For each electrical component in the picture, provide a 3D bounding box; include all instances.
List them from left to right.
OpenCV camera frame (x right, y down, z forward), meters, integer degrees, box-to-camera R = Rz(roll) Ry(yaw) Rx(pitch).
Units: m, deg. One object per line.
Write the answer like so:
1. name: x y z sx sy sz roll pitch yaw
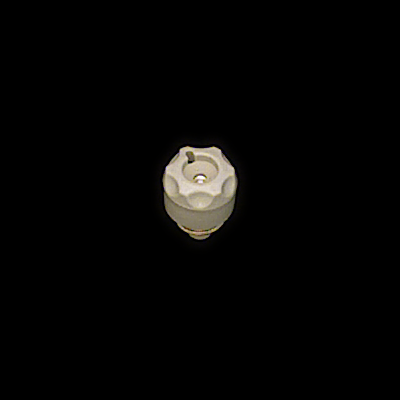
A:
1. electrical component: 0.000 0.000 0.635 0.043 0.043 0.062 0 -36 -1
